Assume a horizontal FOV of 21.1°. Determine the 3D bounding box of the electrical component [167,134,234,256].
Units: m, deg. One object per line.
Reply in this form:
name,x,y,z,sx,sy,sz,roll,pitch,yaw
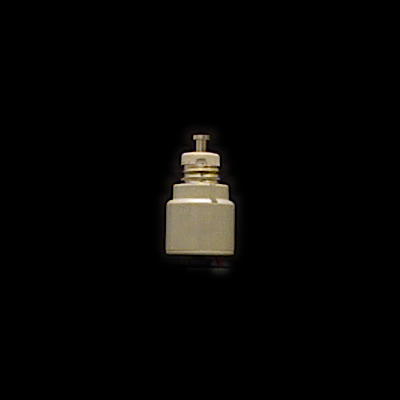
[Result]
electrical component,0.000,0.000,0.648,0.040,0.078,0.040,0,0,0
